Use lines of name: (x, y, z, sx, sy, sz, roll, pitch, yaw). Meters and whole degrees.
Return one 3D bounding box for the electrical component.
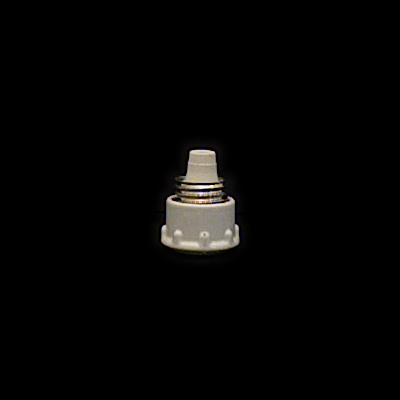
electrical component: (0.000, 0.000, 0.652, 0.048, 0.062, 0.048, 2, 11, 0)
